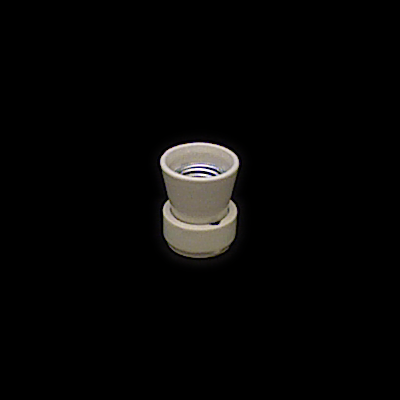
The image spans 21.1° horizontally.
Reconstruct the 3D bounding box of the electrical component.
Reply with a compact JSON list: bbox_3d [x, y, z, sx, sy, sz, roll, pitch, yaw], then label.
[{"bbox_3d":[0.000,0.000,0.633,0.045,0.056,0.044,0,31,0],"label":"electrical component"}]
